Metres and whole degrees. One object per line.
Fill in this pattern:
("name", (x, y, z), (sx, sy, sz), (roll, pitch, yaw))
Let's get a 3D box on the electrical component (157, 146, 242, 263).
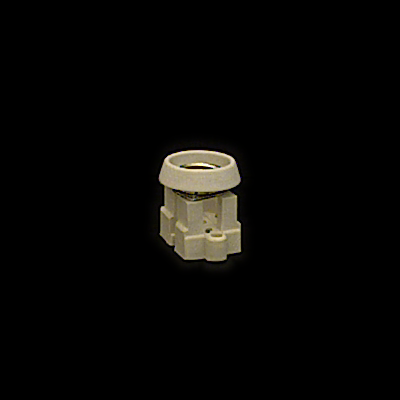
("electrical component", (0.000, 0.000, 0.647), (0.049, 0.056, 0.065), (-7, 23, -24))
